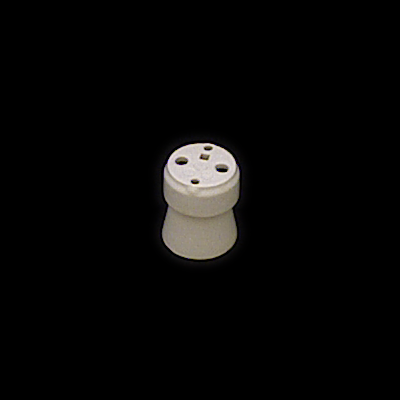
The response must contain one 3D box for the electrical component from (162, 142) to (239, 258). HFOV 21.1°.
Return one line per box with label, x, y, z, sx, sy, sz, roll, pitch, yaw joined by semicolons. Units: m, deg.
electrical component;0.000;0.000;0.632;0.045;0.055;0.044;1;43;0
